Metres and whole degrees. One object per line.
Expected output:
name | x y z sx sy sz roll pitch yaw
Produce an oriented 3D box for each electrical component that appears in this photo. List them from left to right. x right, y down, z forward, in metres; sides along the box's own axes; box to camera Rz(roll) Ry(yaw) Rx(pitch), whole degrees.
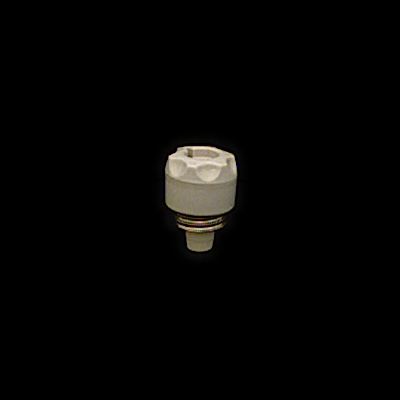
electrical component | 0.000 0.000 0.645 0.043 0.063 0.043 2 23 0
